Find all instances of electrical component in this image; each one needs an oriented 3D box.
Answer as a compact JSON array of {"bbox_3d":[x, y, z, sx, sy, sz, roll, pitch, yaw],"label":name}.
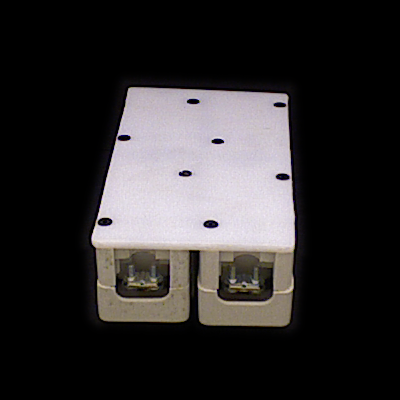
[{"bbox_3d":[0.000,0.000,0.633,0.105,0.061,0.184,2,31,2],"label":"electrical component"}]
